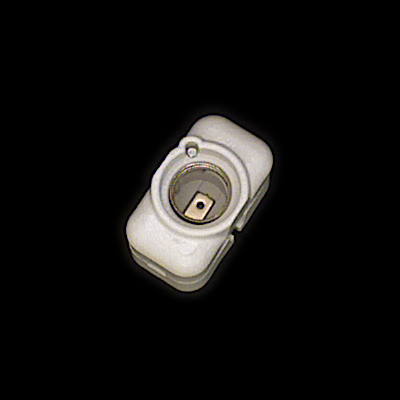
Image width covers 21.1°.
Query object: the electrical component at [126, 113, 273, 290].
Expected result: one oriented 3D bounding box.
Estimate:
[{"bbox_3d":[0.000,0.000,0.634,0.053,0.096,0.059,31,-14,8],"label":"electrical component"}]
